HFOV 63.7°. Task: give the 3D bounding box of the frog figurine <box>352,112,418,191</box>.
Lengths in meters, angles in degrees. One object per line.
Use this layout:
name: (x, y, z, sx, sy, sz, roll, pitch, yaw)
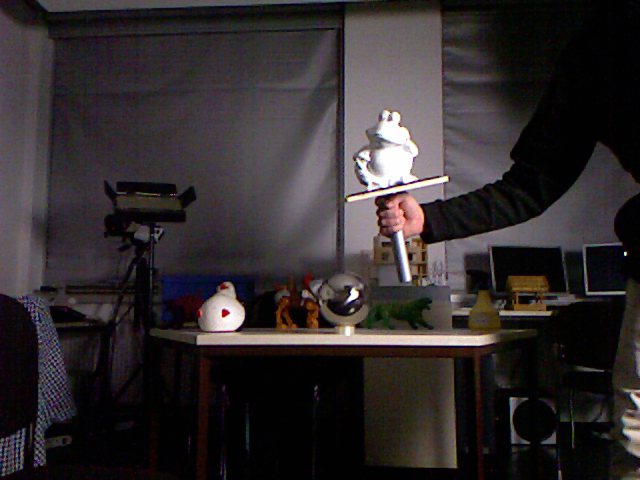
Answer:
frog figurine: (0.135, -0.190, 1.100, 0.137, 0.158, 0.124, -8, 9, 16)
